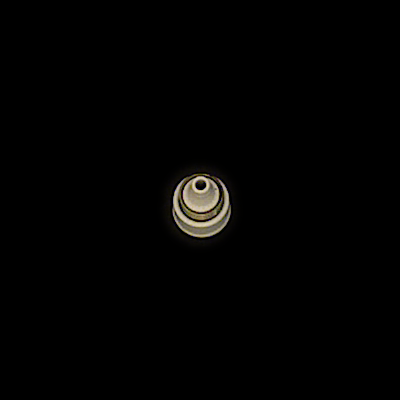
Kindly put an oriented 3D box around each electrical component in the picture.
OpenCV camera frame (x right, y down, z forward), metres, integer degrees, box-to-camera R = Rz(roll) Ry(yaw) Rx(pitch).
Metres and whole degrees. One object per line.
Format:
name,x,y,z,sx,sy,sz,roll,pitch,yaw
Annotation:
electrical component,0.000,0.000,0.636,0.035,0.035,0.061,0,-17,0
